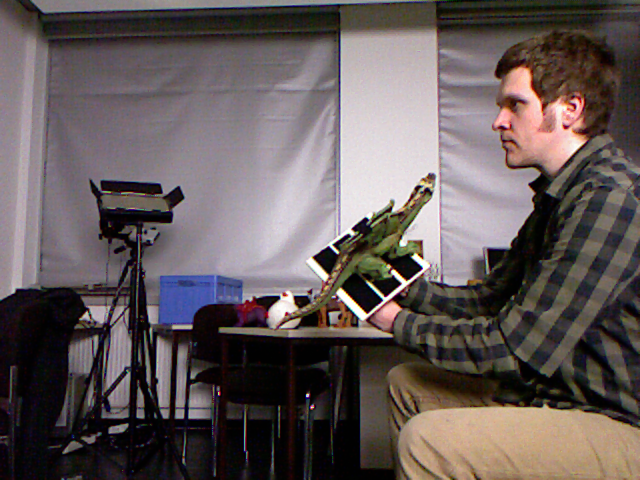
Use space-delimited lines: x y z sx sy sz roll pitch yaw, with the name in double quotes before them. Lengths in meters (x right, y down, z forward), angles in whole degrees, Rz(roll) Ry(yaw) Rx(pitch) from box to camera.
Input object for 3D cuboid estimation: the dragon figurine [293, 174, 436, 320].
"dragon figurine" 0.097 0.009 1.070 0.415 0.124 0.239 -40 -23 -15
